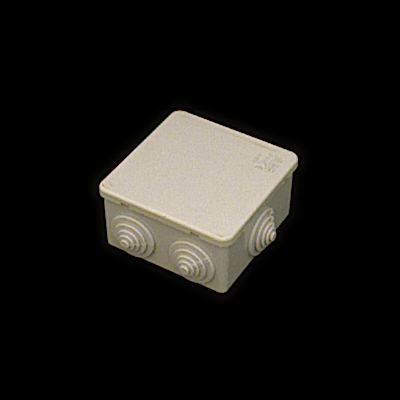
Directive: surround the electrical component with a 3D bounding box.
[{"bbox_3d":[0.000,0.000,0.643,0.099,0.049,0.100,23,47,22],"label":"electrical component"}]
